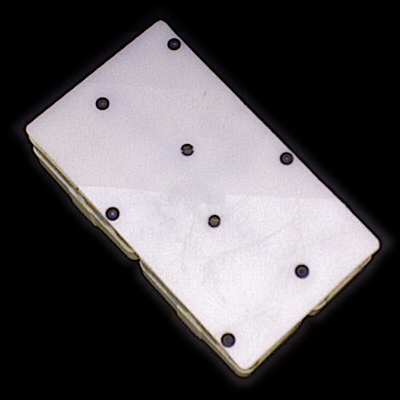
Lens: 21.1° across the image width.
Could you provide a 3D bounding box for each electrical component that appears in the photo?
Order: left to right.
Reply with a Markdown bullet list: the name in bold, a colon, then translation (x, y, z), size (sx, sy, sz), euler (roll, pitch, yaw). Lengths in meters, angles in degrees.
- **electrical component**: translation (0.000, 0.000, 0.625), size (0.106, 0.186, 0.060), euler (-41, -13, -11)
